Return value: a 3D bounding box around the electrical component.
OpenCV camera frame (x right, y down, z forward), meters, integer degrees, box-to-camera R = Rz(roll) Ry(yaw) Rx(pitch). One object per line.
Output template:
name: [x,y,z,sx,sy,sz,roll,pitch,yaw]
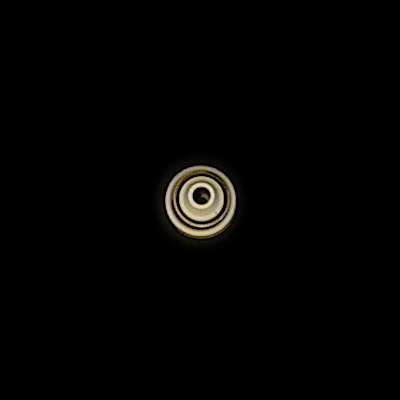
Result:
electrical component: [0.000,0.000,0.635,0.043,0.043,0.062,0,-6,0]
